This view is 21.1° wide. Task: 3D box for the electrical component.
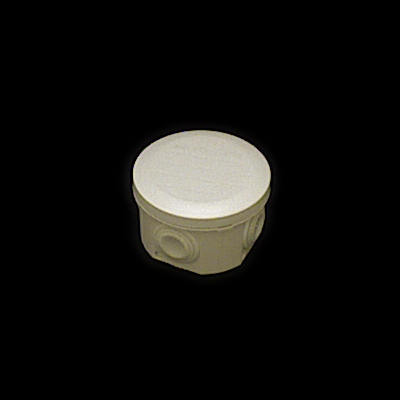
[{"bbox_3d":[0.000,0.000,0.633,0.080,0.051,0.079,1,42,0],"label":"electrical component"}]
